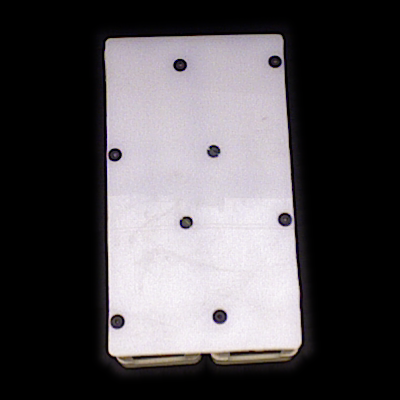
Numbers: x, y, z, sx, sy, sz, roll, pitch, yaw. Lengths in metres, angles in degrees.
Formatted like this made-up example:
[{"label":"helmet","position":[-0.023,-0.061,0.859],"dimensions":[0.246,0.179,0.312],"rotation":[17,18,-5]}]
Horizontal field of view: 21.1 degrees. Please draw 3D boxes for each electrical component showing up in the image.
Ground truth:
[{"label":"electrical component","position":[0.000,0.000,0.625],"dimensions":[0.105,0.187,0.060],"rotation":[-2,-17,-1]}]
